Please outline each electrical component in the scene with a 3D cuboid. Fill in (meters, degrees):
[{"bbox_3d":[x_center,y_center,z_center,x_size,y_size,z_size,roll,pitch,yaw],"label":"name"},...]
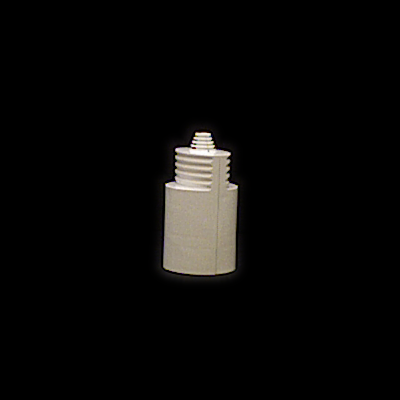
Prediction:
[{"bbox_3d":[0.000,0.000,0.642,0.043,0.081,0.043,1,11,0],"label":"electrical component"}]
